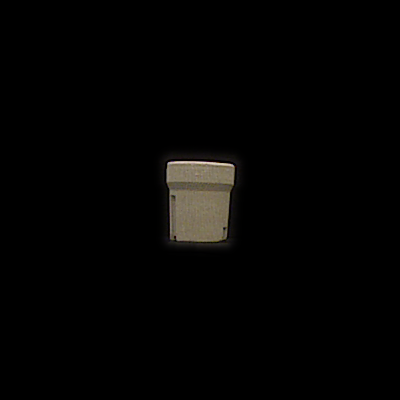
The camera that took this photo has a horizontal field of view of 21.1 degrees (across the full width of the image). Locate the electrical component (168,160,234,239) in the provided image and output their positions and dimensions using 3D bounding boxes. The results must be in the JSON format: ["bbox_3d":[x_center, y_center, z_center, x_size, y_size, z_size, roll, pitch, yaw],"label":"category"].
[{"bbox_3d":[0.000,0.000,0.650,0.040,0.046,0.040,1,1,0],"label":"electrical component"}]
